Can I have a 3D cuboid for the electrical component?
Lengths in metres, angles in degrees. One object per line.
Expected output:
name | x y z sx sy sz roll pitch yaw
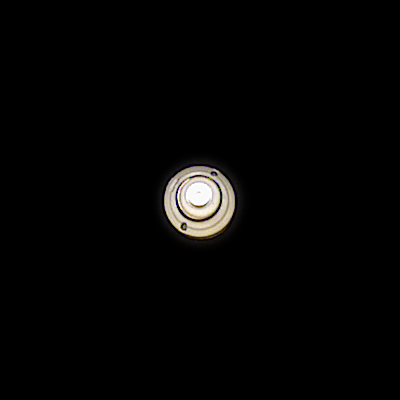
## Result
electrical component | 0.000 0.000 0.618 0.040 0.040 0.078 0 -5 0
